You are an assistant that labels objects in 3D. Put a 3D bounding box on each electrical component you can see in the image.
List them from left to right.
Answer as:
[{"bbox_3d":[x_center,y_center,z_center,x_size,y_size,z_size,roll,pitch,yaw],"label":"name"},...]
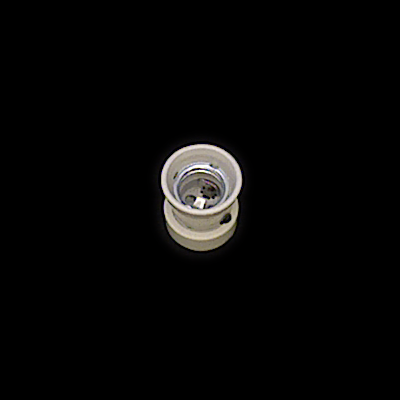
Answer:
[{"bbox_3d":[0.000,0.000,0.629,0.045,0.045,0.055,0,-27,-1],"label":"electrical component"}]
